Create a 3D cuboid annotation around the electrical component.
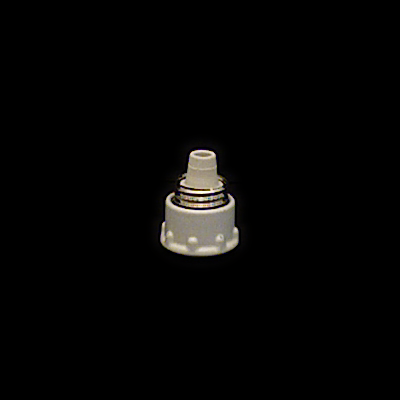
[{"bbox_3d":[0.000,0.000,0.647,0.048,0.063,0.047,2,22,0],"label":"electrical component"}]
